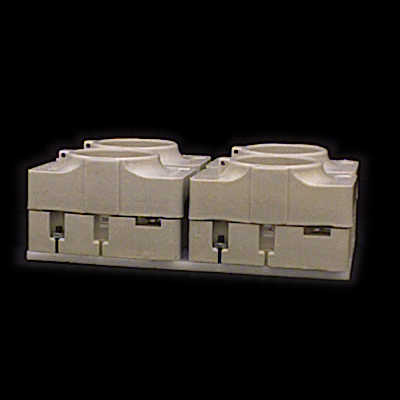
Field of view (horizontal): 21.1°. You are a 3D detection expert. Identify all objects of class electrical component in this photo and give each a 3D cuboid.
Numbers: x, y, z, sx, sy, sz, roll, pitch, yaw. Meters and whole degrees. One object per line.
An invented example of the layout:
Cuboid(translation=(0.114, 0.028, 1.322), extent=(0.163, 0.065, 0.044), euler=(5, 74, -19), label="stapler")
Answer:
Cuboid(translation=(0.000, 0.000, 0.643), extent=(0.186, 0.061, 0.105), euler=(3, 10, 10), label="electrical component")
